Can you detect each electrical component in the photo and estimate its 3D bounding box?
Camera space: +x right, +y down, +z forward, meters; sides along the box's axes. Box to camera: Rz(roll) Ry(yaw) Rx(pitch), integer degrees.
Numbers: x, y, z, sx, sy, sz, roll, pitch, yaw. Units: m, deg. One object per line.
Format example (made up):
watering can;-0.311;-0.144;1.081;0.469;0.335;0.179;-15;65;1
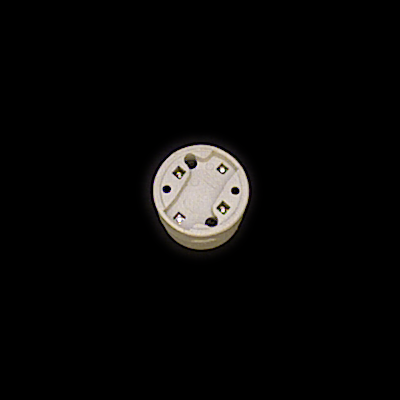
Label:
electrical component;0.000;0.000;0.635;0.055;0.056;0.047;0;-17;0
